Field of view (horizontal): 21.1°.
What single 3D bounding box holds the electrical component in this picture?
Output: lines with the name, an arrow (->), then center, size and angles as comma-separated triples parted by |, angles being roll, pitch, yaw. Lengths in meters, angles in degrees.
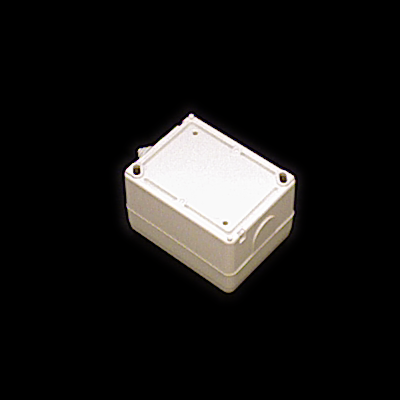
electrical component -> 0.000, 0.000, 0.631 | 0.096, 0.061, 0.061 | 33, 59, 24
